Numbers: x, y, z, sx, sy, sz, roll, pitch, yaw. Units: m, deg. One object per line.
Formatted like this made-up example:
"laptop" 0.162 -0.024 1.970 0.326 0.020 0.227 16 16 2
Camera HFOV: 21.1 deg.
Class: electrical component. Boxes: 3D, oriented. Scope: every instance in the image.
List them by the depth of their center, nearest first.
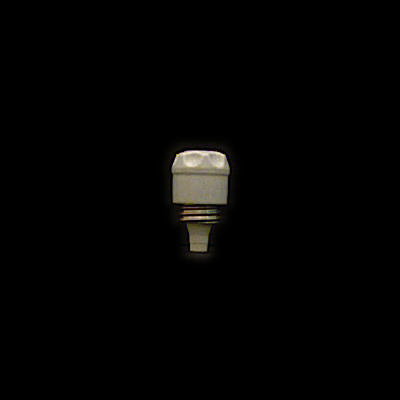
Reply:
"electrical component" 0.000 0.000 0.655 0.035 0.061 0.035 1 2 0
